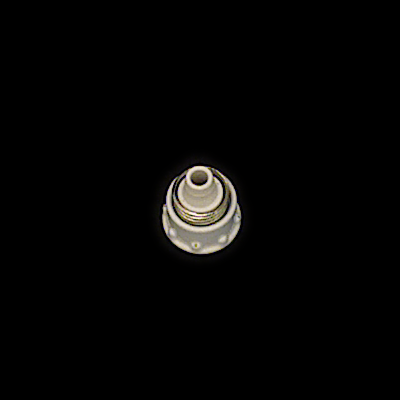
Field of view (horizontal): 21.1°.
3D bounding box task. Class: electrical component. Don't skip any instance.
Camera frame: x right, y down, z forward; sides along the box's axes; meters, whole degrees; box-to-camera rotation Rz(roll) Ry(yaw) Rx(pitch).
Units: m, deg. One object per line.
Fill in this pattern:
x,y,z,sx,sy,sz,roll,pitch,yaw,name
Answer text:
0.000,0.000,0.632,0.048,0.048,0.062,0,-26,2,electrical component
